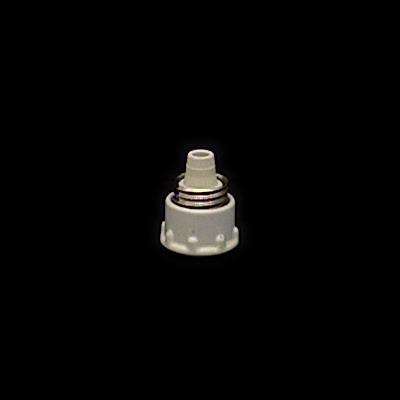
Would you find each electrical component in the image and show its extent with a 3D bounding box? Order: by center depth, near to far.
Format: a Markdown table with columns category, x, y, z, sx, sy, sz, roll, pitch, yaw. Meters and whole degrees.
| category | x | y | z | sx | sy | sz | roll | pitch | yaw |
| --- | --- | --- | --- | --- | --- | --- | --- | --- | --- |
| electrical component | 0.000 | 0.000 | 0.644 | 0.048 | 0.063 | 0.047 | 1 | 23 | 0 |
